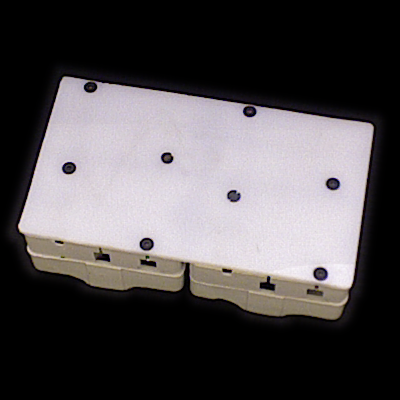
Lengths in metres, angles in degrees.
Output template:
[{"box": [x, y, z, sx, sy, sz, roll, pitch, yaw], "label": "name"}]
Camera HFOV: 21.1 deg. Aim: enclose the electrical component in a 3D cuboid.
[{"box": [0.000, 0.000, 0.626, 0.186, 0.105, 0.060, 9, -26, 4], "label": "electrical component"}]
